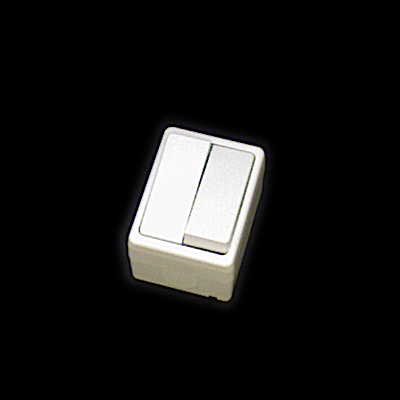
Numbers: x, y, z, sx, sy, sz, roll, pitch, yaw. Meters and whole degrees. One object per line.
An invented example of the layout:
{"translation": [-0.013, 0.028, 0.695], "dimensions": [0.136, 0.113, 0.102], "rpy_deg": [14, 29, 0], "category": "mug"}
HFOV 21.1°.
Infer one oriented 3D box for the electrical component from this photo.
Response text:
{"translation": [0.000, 0.000, 0.628], "dimensions": [0.062, 0.096, 0.061], "rpy_deg": [14, -27, 7], "category": "electrical component"}
